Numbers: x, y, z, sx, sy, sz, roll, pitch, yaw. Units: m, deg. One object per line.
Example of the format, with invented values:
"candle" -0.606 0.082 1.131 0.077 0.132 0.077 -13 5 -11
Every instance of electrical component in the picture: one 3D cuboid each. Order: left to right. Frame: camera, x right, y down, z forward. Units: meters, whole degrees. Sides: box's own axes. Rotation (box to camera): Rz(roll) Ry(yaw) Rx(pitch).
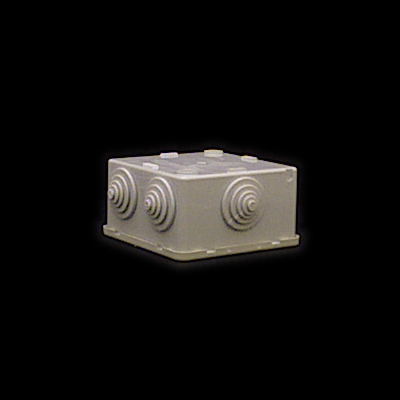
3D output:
"electrical component" 0.000 0.000 0.644 0.100 0.049 0.099 -6 13 -34
